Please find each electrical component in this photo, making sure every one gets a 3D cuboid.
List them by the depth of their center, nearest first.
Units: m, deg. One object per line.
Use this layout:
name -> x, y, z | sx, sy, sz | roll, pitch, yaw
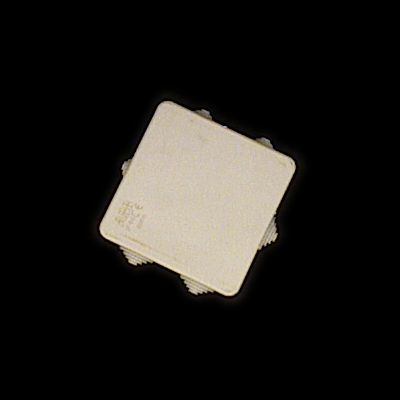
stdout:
electrical component -> 0.000, 0.000, 0.642 | 0.100, 0.100, 0.048 | 26, -6, 3
